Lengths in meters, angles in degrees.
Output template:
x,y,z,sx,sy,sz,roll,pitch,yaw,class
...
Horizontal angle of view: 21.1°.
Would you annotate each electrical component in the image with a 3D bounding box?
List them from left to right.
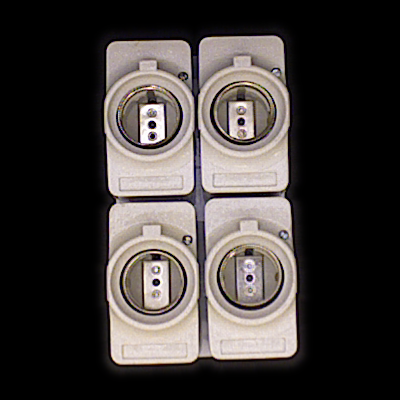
x,y,z,sx,sy,sz,roll,pitch,yaw,class
0.000,0.000,0.626,0.105,0.187,0.060,-2,-7,0,electrical component
